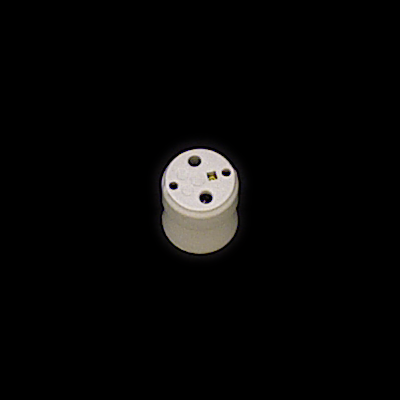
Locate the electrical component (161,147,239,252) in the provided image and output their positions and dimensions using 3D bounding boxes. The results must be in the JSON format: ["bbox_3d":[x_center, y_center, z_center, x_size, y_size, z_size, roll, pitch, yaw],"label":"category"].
[{"bbox_3d":[0.000,0.000,0.628,0.045,0.045,0.055,0,-26,0],"label":"electrical component"}]
